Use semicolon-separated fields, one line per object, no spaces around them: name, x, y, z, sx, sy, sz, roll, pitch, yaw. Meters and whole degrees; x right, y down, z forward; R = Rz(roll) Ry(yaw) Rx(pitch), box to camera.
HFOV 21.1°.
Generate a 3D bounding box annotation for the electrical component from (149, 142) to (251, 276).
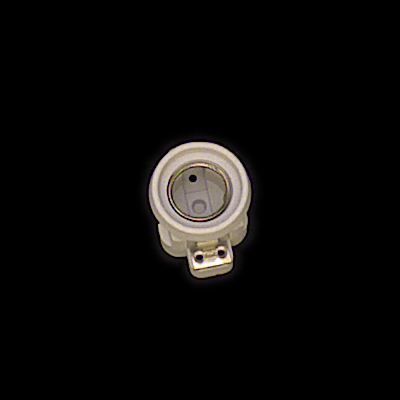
electrical component;0.000;0.000;0.628;0.058;0.079;0.056;-12;-16;-4
